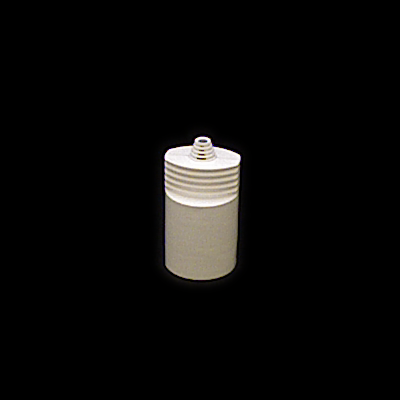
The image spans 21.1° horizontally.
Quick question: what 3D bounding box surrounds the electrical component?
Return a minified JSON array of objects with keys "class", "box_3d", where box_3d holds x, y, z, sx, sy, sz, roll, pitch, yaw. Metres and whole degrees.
[{"class":"electrical component","box_3d":[0.000,0.000,0.629,0.043,0.082,0.042,1,31,0]}]
